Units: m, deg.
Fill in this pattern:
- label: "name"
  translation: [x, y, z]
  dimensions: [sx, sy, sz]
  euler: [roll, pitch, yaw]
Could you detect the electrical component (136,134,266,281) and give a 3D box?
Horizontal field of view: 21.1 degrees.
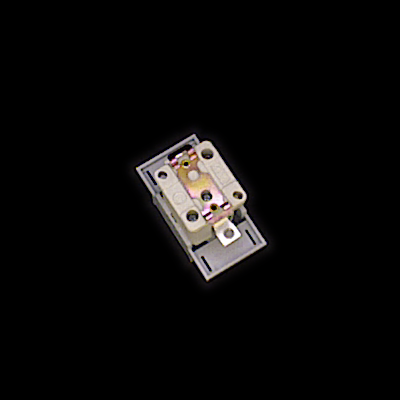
- label: "electrical component"
  translation: [0.000, 0.000, 0.625]
  dimensions: [0.042, 0.081, 0.063]
  euler: [-32, -14, -9]
